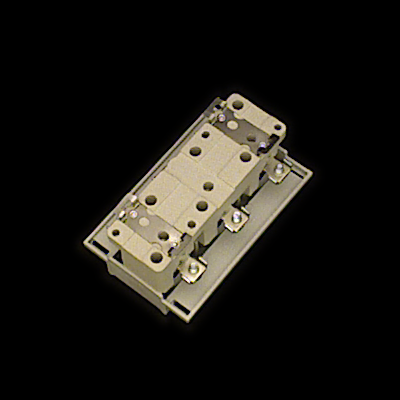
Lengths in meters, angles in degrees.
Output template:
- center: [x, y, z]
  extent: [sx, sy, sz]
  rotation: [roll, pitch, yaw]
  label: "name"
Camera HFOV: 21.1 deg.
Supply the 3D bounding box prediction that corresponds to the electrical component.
- center: [0.000, 0.000, 0.634]
  extent: [0.078, 0.122, 0.063]
  rotation: [35, -22, 17]
  label: "electrical component"
